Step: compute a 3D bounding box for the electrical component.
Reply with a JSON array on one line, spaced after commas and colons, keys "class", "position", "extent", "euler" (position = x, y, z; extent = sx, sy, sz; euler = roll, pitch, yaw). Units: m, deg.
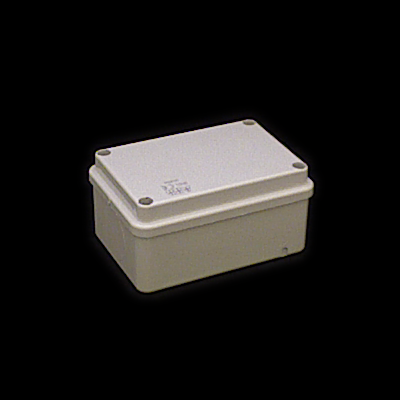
[{"class": "electrical component", "position": [0.000, 0.000, 0.633], "extent": [0.113, 0.058, 0.077], "euler": [-13, 34, -23]}]
